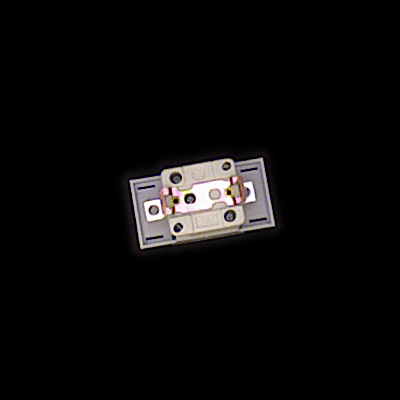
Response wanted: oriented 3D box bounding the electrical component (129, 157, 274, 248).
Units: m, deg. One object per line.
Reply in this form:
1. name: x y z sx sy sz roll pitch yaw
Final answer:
1. electrical component: 0.000 0.000 0.626 0.081 0.042 0.063 -10 -6 -1
